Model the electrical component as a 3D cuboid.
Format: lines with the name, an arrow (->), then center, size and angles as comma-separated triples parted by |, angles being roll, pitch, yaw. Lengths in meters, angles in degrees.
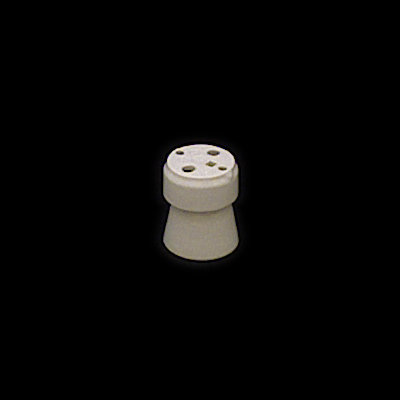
electrical component -> 0.000, 0.000, 0.634 | 0.045, 0.056, 0.044 | 0, 32, 0
